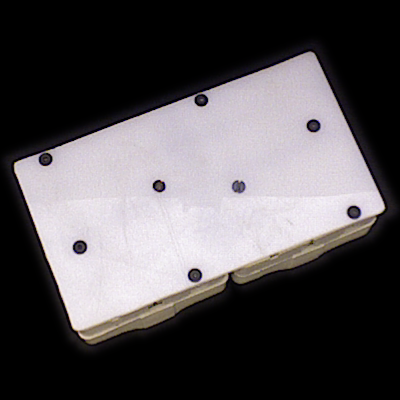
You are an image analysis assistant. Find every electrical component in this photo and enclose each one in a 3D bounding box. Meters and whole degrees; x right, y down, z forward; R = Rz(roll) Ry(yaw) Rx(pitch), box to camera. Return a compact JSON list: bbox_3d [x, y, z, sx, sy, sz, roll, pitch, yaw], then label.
[{"bbox_3d":[0.000,0.000,0.625,0.186,0.106,0.060,-21,-15,-7],"label":"electrical component"}]
